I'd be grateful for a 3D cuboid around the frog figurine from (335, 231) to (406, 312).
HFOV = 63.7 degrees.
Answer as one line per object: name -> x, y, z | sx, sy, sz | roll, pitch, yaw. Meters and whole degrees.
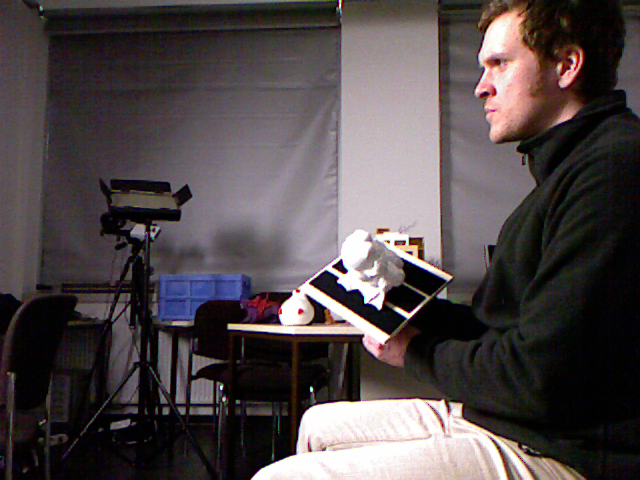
frog figurine -> 0.090, 0.031, 0.908 | 0.124, 0.156, 0.140 | -21, 46, -19
